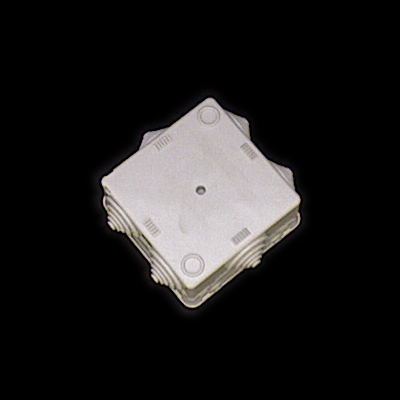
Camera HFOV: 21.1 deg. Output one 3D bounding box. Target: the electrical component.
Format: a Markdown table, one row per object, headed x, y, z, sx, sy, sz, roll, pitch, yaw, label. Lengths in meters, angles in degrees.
| x | y | z | sx | sy | sz | roll | pitch | yaw | label |
| --- | --- | --- | --- | --- | --- | --- | --- | --- | --- |
| 0.000 | 0.000 | 0.631 | 0.100 | 0.100 | 0.048 | -38 | -13 | -10 | electrical component |
